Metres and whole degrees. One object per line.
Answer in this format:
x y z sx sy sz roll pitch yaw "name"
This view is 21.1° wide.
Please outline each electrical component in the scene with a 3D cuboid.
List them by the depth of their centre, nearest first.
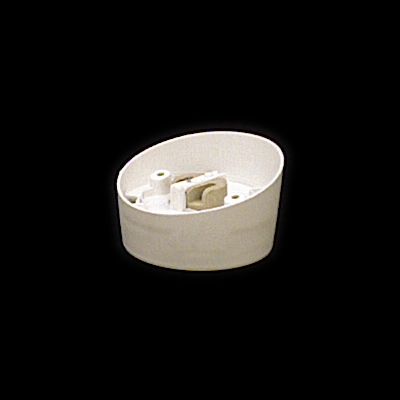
0.000 0.000 0.639 0.099 0.065 0.097 1 20 0 "electrical component"
